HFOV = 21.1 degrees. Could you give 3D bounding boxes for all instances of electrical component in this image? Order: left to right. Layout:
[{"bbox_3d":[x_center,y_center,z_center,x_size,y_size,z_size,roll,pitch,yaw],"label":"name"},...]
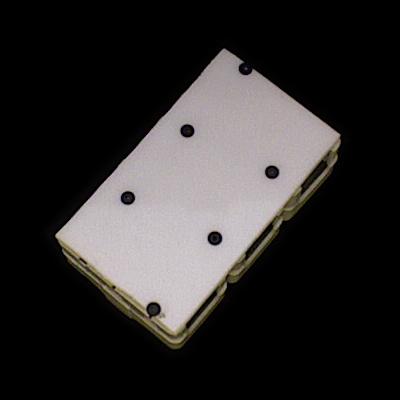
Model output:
[{"bbox_3d":[0.000,0.000,0.631,0.089,0.150,0.062,39,-13,11],"label":"electrical component"}]
